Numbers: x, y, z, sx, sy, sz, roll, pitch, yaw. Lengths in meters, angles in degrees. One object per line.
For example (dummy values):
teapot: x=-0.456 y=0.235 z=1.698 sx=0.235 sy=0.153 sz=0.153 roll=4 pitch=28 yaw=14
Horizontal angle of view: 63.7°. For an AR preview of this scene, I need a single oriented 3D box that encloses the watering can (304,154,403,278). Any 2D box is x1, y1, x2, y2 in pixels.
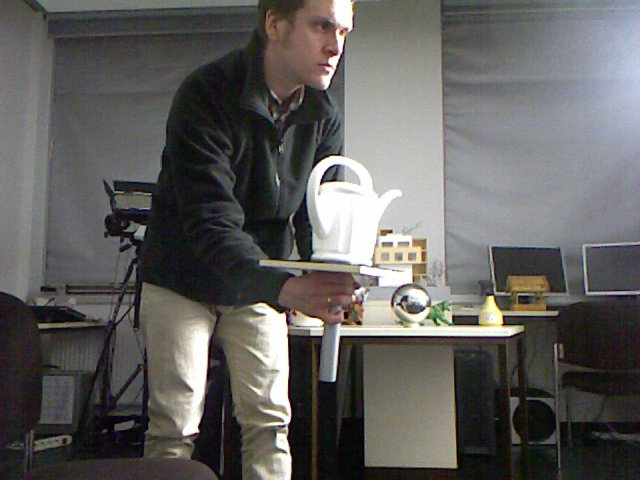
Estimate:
watering can: x=0.073 y=-0.036 z=0.972 sx=0.104 sy=0.225 sz=0.347 roll=6 pitch=-2 yaw=34
